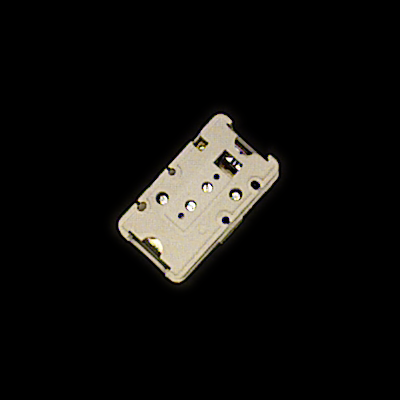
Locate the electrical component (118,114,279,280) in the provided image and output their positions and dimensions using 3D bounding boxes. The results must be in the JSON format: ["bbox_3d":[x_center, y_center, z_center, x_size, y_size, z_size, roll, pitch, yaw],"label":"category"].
[{"bbox_3d":[0.000,0.000,0.637,0.050,0.090,0.055,42,-5,5],"label":"electrical component"}]
